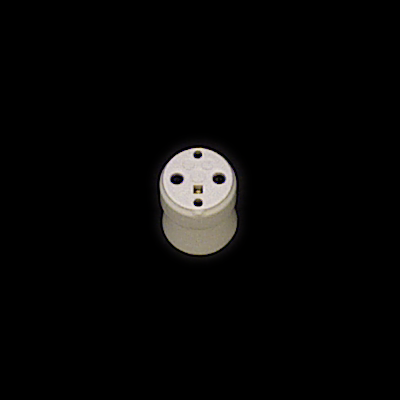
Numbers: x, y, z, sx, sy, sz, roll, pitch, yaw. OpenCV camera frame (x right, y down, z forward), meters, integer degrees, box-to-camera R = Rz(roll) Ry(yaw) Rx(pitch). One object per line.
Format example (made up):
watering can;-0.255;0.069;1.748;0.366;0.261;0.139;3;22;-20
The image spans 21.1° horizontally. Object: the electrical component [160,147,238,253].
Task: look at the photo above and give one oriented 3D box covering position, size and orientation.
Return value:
electrical component;0.000;0.000;0.629;0.045;0.045;0.055;0;-27;0
